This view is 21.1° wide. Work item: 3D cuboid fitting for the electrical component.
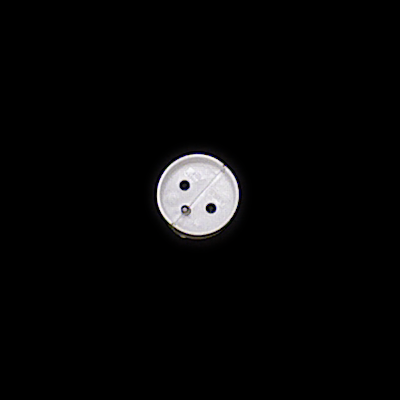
[{"bbox_3d":[0.000,0.000,0.615,0.043,0.043,0.080,0,-6,1],"label":"electrical component"}]
